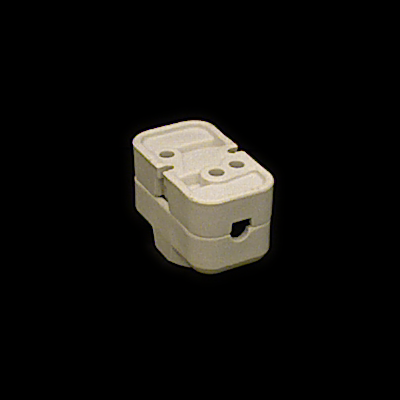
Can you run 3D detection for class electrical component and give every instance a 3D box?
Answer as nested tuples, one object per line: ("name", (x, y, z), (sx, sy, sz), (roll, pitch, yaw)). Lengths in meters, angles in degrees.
("electrical component", (0.000, 0.000, 0.643), (0.054, 0.060, 0.093), (-16, 35, -25))
